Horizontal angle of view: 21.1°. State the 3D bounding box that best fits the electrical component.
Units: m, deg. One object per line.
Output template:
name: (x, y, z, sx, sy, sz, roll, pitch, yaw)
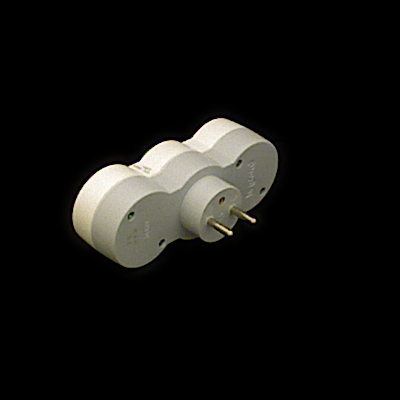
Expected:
electrical component: (0.000, 0.000, 0.641, 0.138, 0.053, 0.072, -26, 43, -37)
